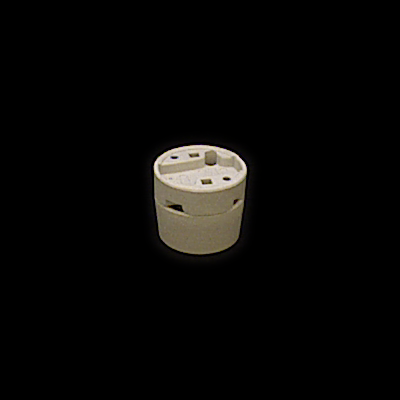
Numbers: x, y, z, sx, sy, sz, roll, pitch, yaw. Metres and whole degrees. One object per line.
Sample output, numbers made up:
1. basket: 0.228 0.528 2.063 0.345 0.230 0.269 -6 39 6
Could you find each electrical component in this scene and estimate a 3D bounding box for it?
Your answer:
1. electrical component: 0.000 0.000 0.640 0.055 0.047 0.055 1 32 0
